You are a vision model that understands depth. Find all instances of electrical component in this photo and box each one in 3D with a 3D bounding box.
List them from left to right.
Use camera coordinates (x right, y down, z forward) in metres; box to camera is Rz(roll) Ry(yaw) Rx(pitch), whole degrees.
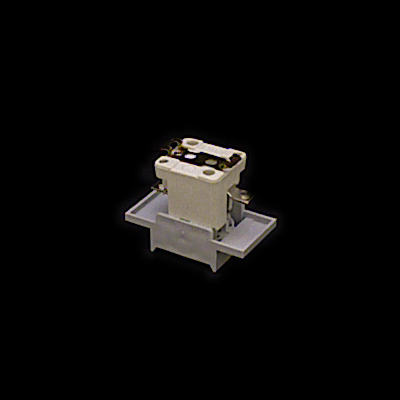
[{"bbox_3d":[0.000,0.000,0.633,0.080,0.064,0.042,17,35,24],"label":"electrical component"}]
